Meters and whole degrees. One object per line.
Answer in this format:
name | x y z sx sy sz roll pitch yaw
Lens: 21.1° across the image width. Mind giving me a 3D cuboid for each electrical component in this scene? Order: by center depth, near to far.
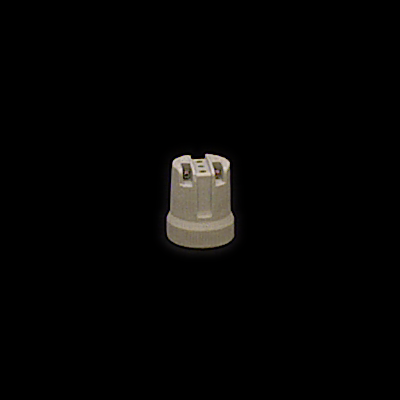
electrical component | 0.000 0.000 0.640 0.040 0.046 0.040 1 21 0
